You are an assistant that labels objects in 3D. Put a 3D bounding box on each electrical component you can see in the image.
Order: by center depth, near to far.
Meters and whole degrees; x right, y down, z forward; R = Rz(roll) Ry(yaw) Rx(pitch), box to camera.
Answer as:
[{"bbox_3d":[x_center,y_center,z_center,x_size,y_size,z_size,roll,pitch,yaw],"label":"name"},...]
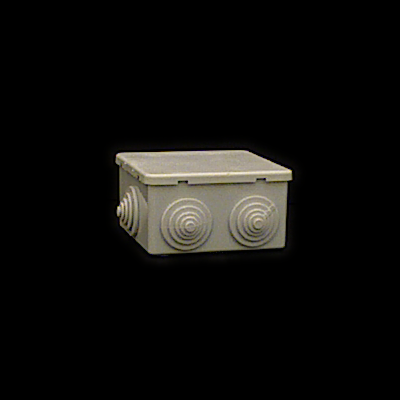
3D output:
[{"bbox_3d":[0.000,0.000,0.654,0.100,0.049,0.098,-2,12,-16],"label":"electrical component"}]
